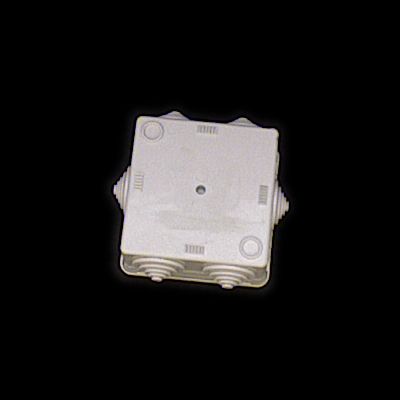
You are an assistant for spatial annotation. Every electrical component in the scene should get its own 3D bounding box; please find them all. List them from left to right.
[{"bbox_3d":[0.000,0.000,0.631,0.100,0.100,0.048,6,-16,2],"label":"electrical component"}]
